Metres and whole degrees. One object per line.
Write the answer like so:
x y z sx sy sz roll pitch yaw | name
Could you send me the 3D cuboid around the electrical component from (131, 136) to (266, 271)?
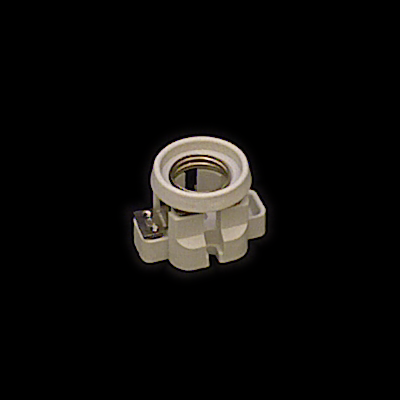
0.000 0.000 0.630 0.079 0.057 0.057 -13 44 -15 | electrical component
